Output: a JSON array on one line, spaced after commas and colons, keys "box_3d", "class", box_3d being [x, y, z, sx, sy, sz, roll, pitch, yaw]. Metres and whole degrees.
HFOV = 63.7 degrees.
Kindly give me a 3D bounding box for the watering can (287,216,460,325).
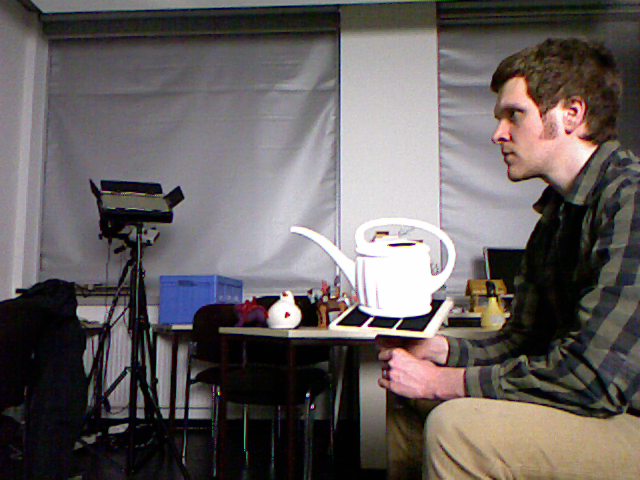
[{"box_3d": [0.105, 0.060, 1.048, 0.348, 0.222, 0.105, 1, 14, 18], "class": "watering can"}]
